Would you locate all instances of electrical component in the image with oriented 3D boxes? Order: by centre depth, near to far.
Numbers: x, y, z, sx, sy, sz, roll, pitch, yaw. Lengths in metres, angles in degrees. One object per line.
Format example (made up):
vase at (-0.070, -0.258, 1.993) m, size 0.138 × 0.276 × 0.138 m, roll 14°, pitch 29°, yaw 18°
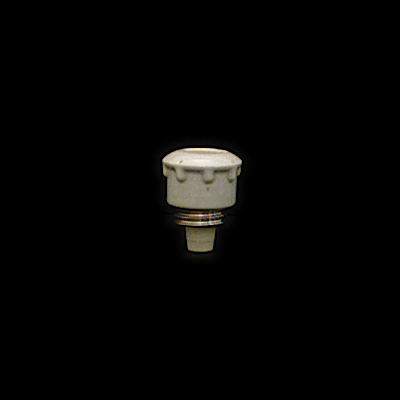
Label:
electrical component at (0.000, 0.000, 0.654) m, size 0.048 × 0.062 × 0.048 m, roll 1°, pitch 11°, yaw 0°
